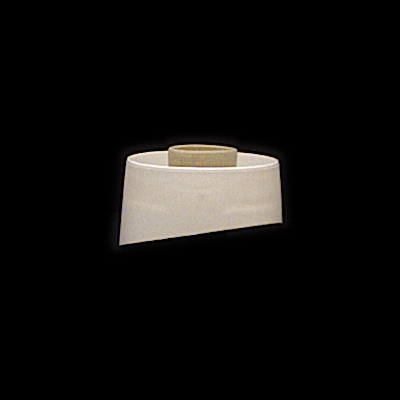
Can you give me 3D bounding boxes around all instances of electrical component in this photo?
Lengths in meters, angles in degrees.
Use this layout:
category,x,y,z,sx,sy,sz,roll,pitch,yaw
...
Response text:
category,x,y,z,sx,sy,sz,roll,pitch,yaw
electrical component,0.000,0.000,0.644,0.099,0.064,0.098,1,10,0
